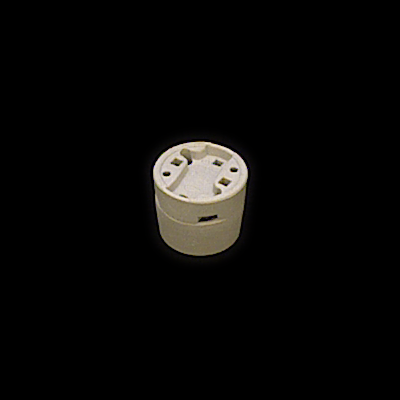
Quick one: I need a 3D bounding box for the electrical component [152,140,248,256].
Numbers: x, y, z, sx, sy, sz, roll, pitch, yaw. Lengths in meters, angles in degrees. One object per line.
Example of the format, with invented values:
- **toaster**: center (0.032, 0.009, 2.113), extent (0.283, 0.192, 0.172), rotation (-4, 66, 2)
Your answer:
- **electrical component**: center (0.000, 0.000, 0.637), extent (0.055, 0.047, 0.055), rotation (1, 43, 0)
